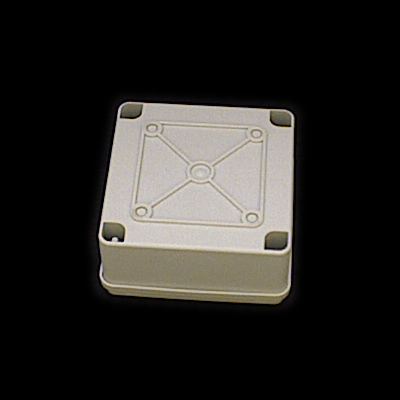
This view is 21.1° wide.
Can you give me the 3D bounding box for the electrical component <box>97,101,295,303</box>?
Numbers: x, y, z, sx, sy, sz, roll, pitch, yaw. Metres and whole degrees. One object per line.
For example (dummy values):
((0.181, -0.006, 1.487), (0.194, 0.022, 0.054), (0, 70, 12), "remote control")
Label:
((0.000, 0.000, 0.627), (0.109, 0.108, 0.056), (3, -37, 3), "electrical component")
